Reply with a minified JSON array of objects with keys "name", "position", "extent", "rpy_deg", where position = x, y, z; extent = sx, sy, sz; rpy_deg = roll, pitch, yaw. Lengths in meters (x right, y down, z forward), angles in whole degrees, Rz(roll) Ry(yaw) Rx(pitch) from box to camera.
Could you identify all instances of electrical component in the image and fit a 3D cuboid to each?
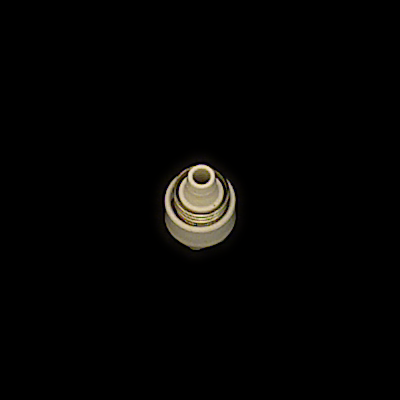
[{"name":"electrical component","position":[0.000,0.000,0.634],"extent":[0.043,0.043,0.062],"rpy_deg":[0,-27,-1]}]
